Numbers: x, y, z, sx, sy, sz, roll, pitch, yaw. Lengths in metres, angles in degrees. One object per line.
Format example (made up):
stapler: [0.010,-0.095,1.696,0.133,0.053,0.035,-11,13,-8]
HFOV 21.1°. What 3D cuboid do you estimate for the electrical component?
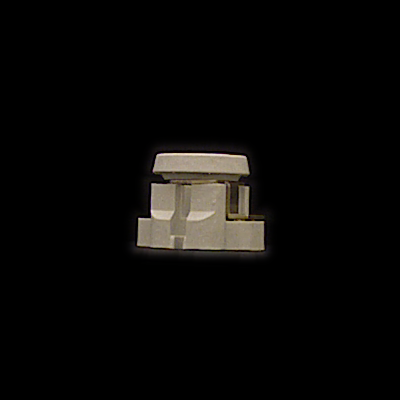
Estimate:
electrical component: [0.000,0.000,0.650,0.078,0.057,0.058,2,1,29]
